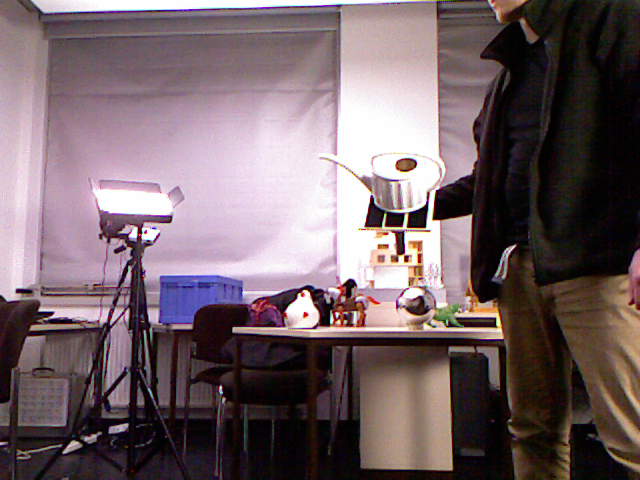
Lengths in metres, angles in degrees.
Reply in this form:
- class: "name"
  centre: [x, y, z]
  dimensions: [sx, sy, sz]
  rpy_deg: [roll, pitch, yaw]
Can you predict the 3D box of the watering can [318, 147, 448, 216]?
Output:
- class: "watering can"
  centre: [0.177, -0.172, 1.444]
  dimensions: [0.348, 0.107, 0.219]
  rpy_deg: [3, -41, 13]
